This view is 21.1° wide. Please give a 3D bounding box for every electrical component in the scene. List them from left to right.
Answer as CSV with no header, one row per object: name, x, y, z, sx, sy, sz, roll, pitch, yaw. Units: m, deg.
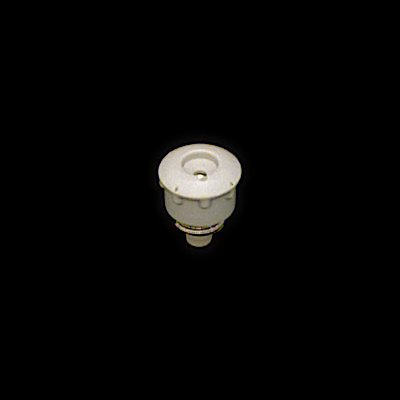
electrical component,0.000,0.000,0.638,0.048,0.062,0.047,0,43,0
